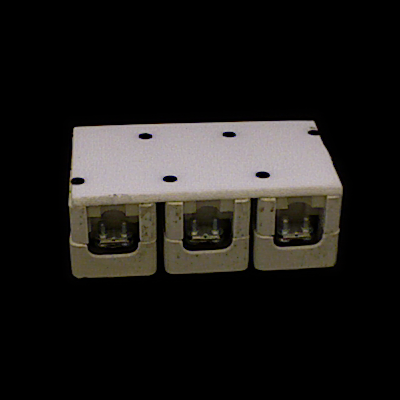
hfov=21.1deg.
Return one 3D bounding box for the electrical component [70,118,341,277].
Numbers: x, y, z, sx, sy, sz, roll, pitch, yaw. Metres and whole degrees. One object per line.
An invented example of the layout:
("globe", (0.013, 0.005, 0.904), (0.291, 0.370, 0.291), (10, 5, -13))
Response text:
("electrical component", (0.000, 0.000, 0.638), (0.150, 0.063, 0.087), (-2, 31, -4))
